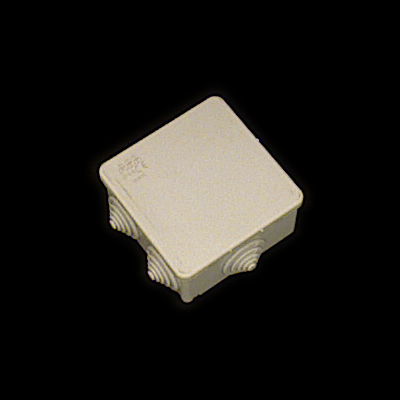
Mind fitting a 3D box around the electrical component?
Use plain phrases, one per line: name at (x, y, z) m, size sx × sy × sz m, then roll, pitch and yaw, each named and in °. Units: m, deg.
electrical component at (0.000, 0.000, 0.639) m, size 0.100 × 0.099 × 0.048 m, roll -33°, pitch -22°, yaw -15°
